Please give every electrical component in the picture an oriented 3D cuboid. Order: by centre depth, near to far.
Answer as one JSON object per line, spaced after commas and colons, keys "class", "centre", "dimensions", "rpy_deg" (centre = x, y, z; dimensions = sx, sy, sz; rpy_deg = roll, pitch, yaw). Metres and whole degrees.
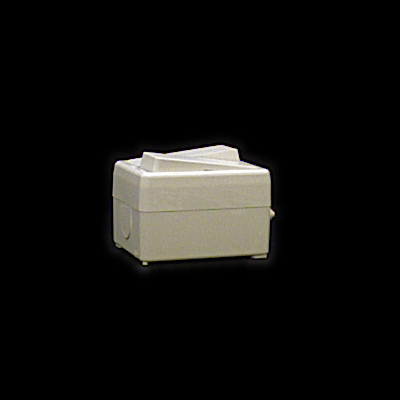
{"class": "electrical component", "centre": [0.000, 0.000, 0.645], "dimensions": [0.096, 0.061, 0.061], "rpy_deg": [-3, 11, -20]}
